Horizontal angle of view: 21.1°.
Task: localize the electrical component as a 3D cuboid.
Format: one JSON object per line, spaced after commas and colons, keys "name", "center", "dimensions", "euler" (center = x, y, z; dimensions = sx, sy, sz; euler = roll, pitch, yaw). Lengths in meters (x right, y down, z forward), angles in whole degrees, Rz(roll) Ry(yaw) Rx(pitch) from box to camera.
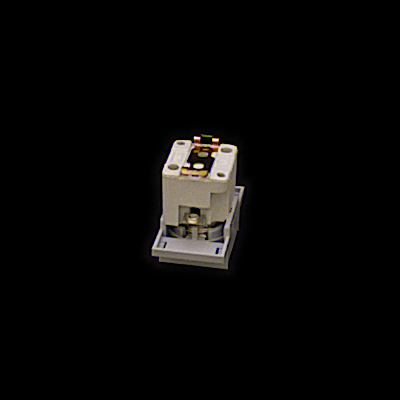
{"name": "electrical component", "center": [0.000, 0.000, 0.633], "dimensions": [0.042, 0.064, 0.080], "euler": [6, 31, 8]}
